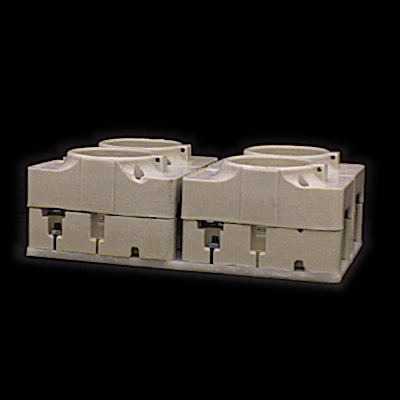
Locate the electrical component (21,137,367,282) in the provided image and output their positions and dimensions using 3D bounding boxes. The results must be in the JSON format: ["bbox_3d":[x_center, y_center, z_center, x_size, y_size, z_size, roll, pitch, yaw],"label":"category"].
[{"bbox_3d":[0.000,0.000,0.645,0.186,0.061,0.105,4,10,15],"label":"electrical component"}]
